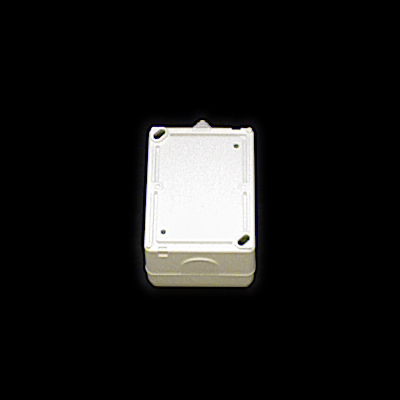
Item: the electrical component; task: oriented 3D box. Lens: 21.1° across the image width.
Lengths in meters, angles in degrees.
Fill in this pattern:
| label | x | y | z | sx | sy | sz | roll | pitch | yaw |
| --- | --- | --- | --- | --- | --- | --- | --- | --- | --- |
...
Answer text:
| label | x | y | z | sx | sy | sz | roll | pitch | yaw |
| --- | --- | --- | --- | --- | --- | --- | --- | --- | --- |
| electrical component | 0.000 | 0.000 | 0.630 | 0.062 | 0.096 | 0.061 | 0 | -27 | 1 |
